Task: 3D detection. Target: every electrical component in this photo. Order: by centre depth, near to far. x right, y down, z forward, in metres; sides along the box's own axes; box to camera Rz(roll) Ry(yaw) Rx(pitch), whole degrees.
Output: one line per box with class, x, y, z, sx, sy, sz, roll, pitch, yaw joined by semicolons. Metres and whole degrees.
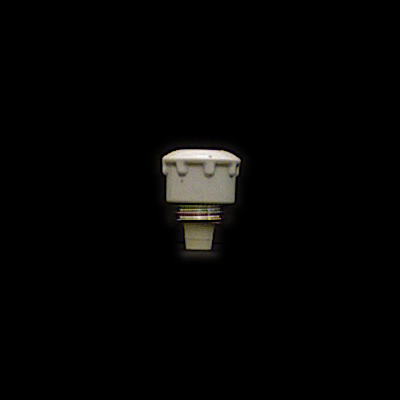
electrical component;0.000;0.000;0.659;0.048;0.062;0.048;1;2;0
